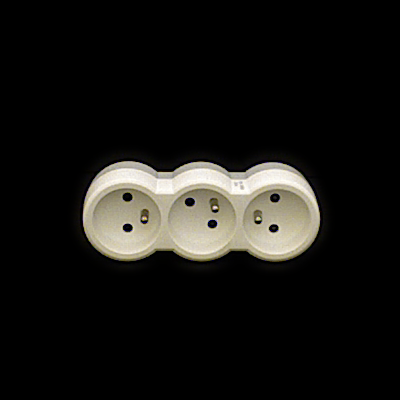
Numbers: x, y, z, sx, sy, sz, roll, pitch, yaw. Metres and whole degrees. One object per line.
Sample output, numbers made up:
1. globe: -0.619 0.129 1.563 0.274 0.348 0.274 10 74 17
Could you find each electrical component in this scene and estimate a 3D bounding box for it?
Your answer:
1. electrical component: 0.000 0.000 0.650 0.138 0.053 0.073 0 20 -3
